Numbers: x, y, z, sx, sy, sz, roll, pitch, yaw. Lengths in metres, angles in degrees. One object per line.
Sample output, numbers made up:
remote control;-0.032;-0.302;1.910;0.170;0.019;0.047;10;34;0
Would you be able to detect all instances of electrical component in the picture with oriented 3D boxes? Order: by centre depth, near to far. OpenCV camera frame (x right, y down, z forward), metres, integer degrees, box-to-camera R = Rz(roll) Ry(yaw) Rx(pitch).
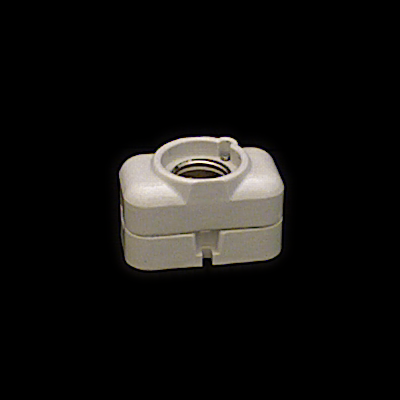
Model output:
electrical component;0.000;0.000;0.642;0.095;0.060;0.053;-4;33;-9
